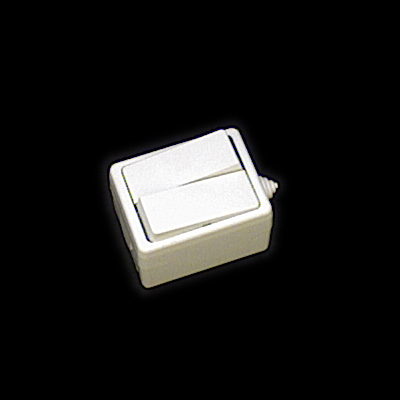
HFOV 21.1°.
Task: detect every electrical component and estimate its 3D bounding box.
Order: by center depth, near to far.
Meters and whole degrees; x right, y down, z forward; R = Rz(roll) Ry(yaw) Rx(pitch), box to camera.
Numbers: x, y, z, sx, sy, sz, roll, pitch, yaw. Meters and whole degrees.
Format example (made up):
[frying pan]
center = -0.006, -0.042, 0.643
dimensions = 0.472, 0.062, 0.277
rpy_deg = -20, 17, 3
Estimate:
[electrical component]
center = 0.000, 0.000, 0.627
dimensions = 0.096, 0.062, 0.061
rpy_deg = -17, -26, -9
